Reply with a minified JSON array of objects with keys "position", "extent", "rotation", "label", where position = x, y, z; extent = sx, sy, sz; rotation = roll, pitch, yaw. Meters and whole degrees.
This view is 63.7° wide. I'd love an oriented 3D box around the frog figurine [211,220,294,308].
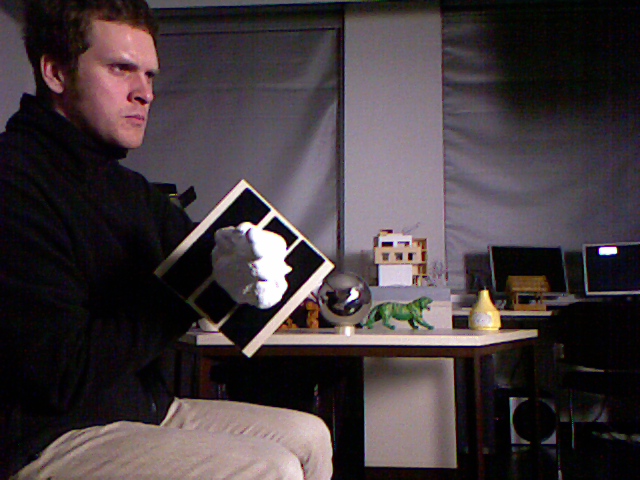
[{"position":[-0.101,0.036,0.750],"extent":[0.123,0.138,0.160],"rotation":[-27,3,-3],"label":"frog figurine"}]
